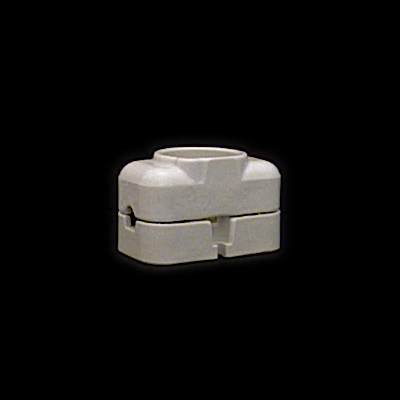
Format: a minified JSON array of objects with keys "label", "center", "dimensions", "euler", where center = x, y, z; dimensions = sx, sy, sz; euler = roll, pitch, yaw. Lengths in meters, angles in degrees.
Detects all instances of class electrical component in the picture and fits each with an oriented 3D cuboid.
[{"label":"electrical component","center":[0.000,0.000,0.649],"dimensions":[0.096,0.060,0.053],"euler":[-6,13,-30]}]
